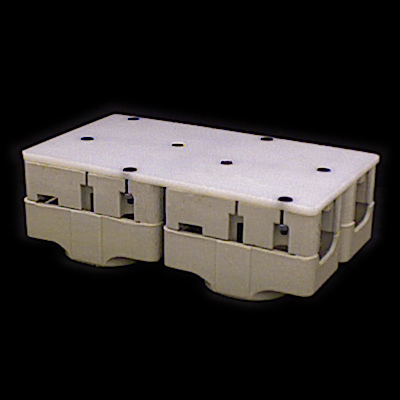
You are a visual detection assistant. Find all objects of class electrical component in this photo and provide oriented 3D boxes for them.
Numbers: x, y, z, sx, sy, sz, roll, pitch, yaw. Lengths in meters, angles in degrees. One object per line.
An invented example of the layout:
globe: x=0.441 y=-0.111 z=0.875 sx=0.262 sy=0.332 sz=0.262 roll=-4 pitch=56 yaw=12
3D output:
electrical component: x=0.000 y=0.000 z=0.638 sx=0.185 sy=0.061 sz=0.104 roll=11 pitch=22 yaw=25
